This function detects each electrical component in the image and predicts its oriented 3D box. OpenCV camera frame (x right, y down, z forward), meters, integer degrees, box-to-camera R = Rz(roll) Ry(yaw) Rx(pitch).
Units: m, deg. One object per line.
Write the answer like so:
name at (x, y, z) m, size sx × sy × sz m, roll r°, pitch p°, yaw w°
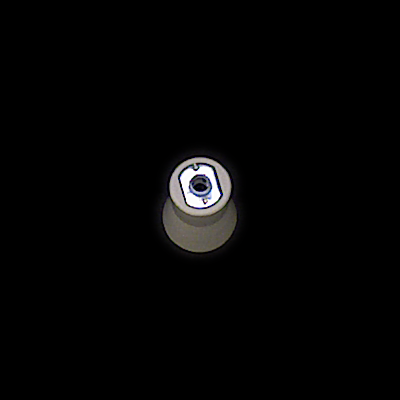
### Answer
electrical component at (0.000, 0.000, 0.625) m, size 0.044 × 0.044 × 0.065 m, roll 0°, pitch -17°, yaw -1°
